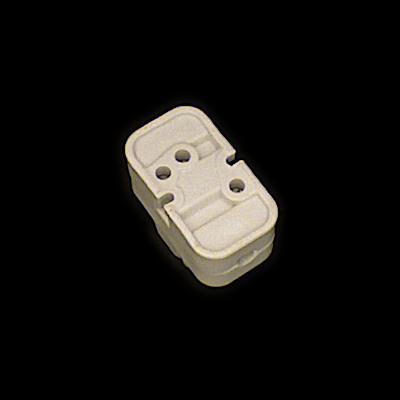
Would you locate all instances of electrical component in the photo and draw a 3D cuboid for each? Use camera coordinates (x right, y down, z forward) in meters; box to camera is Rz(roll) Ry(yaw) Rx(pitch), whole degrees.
[{"bbox_3d":[0.000,0.000,0.633,0.054,0.095,0.059,-31,-22,-14],"label":"electrical component"}]
